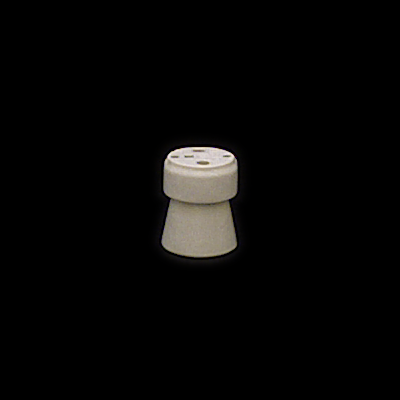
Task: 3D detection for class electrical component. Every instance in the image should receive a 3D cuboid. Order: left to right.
[{"bbox_3d":[0.000,0.000,0.641,0.045,0.056,0.044,1,21,0],"label":"electrical component"}]
